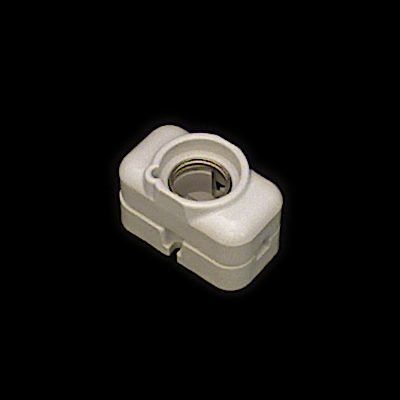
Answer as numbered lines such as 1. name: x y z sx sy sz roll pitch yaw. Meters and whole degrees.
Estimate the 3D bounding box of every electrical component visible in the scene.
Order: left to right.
1. electrical component: 0.000 0.000 0.634 0.094 0.054 0.059 31 -31 21
